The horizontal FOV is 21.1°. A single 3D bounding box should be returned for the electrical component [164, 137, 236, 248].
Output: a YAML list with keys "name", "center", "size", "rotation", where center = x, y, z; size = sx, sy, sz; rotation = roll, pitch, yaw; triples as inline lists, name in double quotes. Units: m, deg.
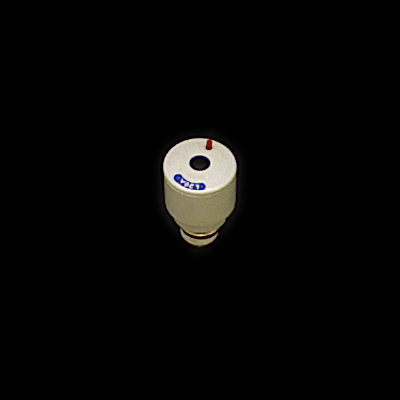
- name: "electrical component"
  center: [0.000, 0.000, 0.622]
  size: [0.040, 0.040, 0.079]
  rotation: [0, -39, -1]
